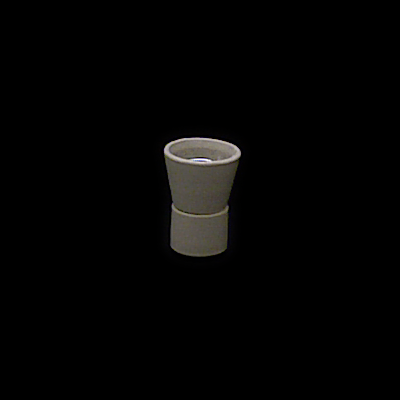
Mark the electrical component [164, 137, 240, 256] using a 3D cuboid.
[{"bbox_3d":[0.000,0.000,0.637,0.044,0.066,0.044,2,22,-1],"label":"electrical component"}]
